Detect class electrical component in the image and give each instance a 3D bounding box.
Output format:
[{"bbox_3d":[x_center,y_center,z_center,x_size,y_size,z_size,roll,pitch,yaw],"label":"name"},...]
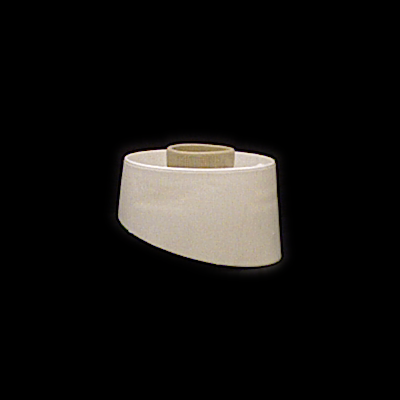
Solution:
[{"bbox_3d":[0.000,0.000,0.643,0.099,0.064,0.098,2,10,0],"label":"electrical component"}]
